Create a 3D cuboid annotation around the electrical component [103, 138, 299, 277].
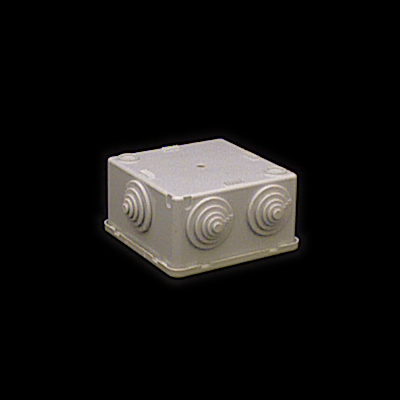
[{"bbox_3d":[0.000,0.000,0.640,0.100,0.049,0.098,-12,24,-30],"label":"electrical component"}]
